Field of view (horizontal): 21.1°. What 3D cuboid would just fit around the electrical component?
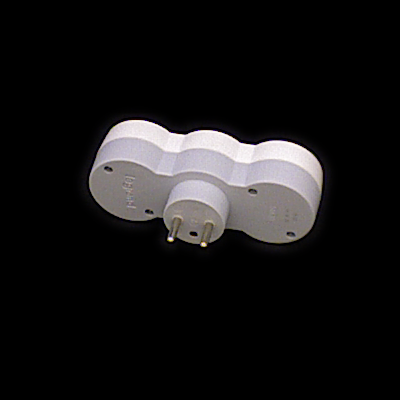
[{"bbox_3d":[0.000,0.000,0.634,0.138,0.052,0.073,9,45,8],"label":"electrical component"}]
